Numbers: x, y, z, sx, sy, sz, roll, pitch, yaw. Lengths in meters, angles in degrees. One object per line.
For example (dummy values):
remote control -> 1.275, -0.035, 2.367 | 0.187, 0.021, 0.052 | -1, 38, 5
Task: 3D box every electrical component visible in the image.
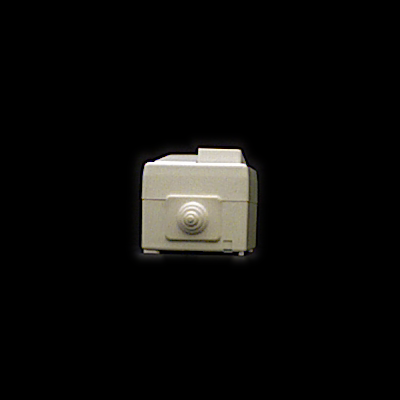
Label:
electrical component -> 0.000, 0.000, 0.647 | 0.062, 0.061, 0.096 | 1, 0, 7
